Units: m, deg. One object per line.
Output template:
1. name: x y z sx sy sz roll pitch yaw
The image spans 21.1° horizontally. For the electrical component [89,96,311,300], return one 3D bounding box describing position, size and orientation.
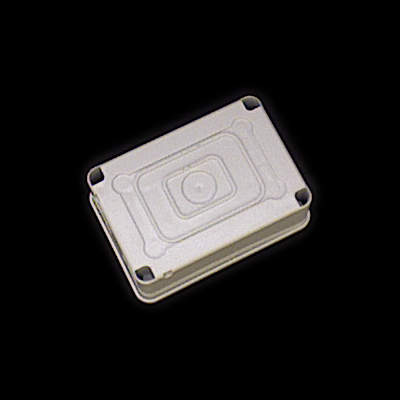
1. electrical component: 0.000 0.000 0.628 0.113 0.078 0.057 -26 -15 -8
